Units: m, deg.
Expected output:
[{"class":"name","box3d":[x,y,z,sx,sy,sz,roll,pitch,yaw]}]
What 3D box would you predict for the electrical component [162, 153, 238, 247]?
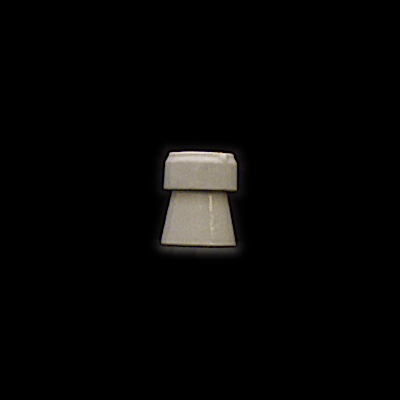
[{"class":"electrical component","box3d":[0.000,0.000,0.651,0.045,0.055,0.045,2,1,0]}]
